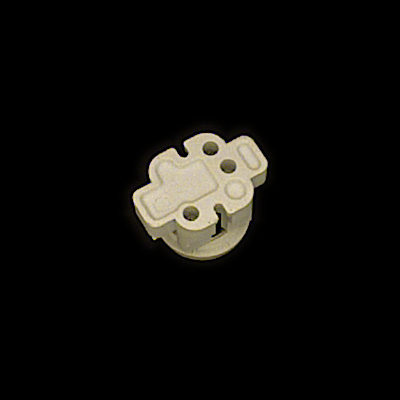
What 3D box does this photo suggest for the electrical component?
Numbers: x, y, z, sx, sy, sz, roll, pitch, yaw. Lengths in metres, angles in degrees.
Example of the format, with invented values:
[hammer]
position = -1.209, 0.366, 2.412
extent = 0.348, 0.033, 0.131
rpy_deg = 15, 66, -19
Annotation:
[electrical component]
position = 0.000, 0.000, 0.634
extent = 0.079, 0.057, 0.056
rpy_deg = -29, -22, -12
